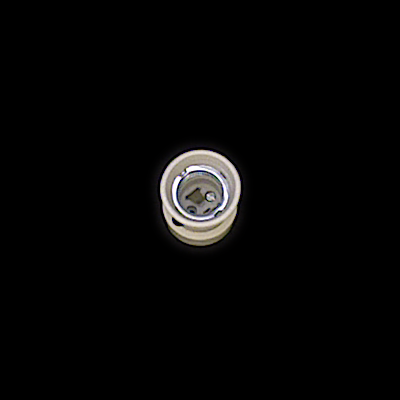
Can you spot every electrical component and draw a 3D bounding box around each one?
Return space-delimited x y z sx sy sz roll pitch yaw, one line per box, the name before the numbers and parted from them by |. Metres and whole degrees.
electrical component | 0.000 0.000 0.628 0.045 0.045 0.055 0 -16 0
